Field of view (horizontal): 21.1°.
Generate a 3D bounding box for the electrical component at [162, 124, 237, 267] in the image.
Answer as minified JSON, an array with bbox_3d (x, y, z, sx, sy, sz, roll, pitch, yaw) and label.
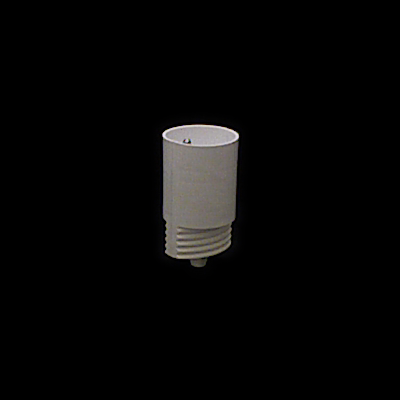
[{"bbox_3d":[0.000,0.000,0.632,0.043,0.082,0.042,0,21,0],"label":"electrical component"}]
